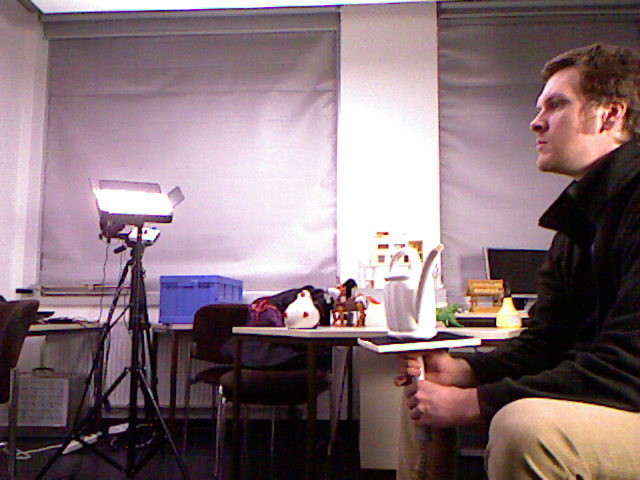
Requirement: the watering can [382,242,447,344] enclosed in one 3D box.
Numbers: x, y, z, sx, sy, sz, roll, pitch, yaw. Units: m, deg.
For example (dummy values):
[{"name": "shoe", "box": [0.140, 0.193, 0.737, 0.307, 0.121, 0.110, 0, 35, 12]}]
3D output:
[{"name": "watering can", "box": [0.195, 0.114, 1.070, 0.104, 0.225, 0.346, -5, -4, -8]}]
